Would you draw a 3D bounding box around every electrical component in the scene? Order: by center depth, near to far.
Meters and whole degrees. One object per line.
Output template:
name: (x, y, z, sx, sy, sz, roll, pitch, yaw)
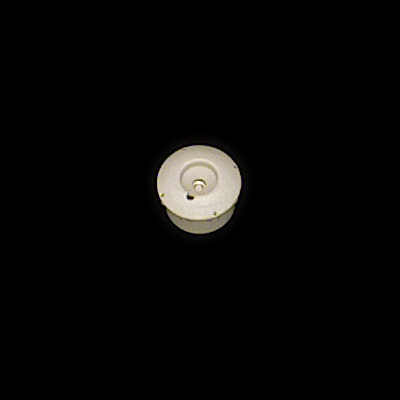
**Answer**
electrical component: (0.000, 0.000, 0.633, 0.048, 0.048, 0.062, 0, -26, 0)
